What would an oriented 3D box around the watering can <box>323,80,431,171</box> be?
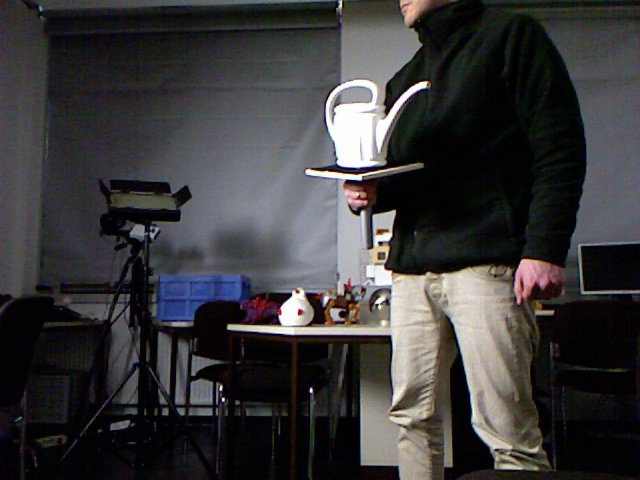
[{"bbox_3d":[0.120,-0.259,1.196,0.105,0.222,0.350,-17,20,-34],"label":"watering can"}]
